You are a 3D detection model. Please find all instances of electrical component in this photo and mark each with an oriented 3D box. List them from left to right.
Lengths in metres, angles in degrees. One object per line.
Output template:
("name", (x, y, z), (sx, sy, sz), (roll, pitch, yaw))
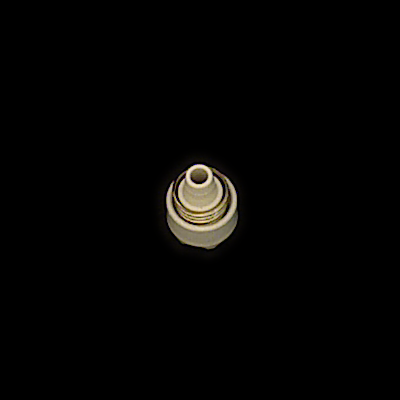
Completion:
("electrical component", (0.000, 0.000, 0.634), (0.043, 0.043, 0.062), (0, -27, 2))
